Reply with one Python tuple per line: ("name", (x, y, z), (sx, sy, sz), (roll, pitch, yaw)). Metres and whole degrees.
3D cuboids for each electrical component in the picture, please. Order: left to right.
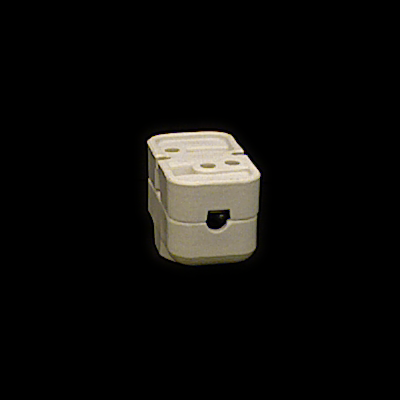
("electrical component", (0.000, 0.000, 0.648), (0.054, 0.060, 0.093), (-4, 22, -12))
